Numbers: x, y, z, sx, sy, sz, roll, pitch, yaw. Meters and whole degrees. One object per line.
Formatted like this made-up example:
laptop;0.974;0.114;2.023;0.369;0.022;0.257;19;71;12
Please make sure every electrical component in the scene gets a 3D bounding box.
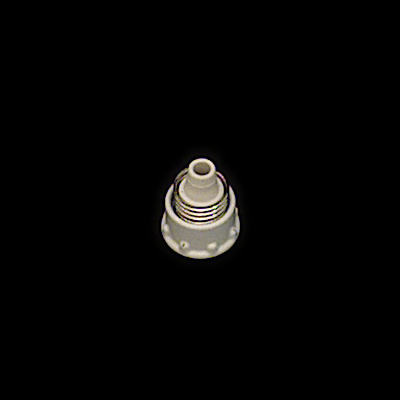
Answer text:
electrical component;0.000;0.000;0.636;0.048;0.048;0.062;0;-38;-2
